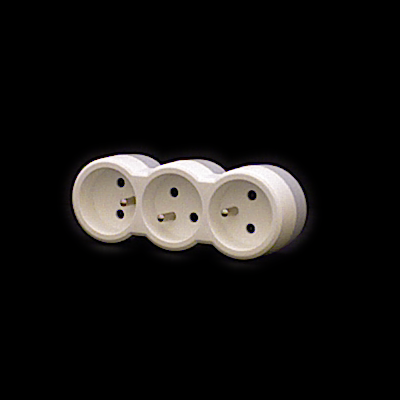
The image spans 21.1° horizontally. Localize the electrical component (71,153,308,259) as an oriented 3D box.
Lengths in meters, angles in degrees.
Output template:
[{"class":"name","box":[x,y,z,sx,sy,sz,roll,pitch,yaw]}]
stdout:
[{"class":"electrical component","box":[0.000,0.000,0.646,0.137,0.052,0.073,5,9,26]}]
